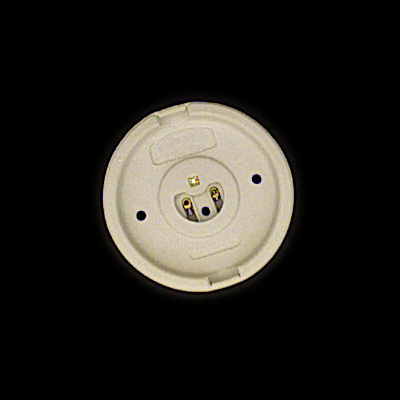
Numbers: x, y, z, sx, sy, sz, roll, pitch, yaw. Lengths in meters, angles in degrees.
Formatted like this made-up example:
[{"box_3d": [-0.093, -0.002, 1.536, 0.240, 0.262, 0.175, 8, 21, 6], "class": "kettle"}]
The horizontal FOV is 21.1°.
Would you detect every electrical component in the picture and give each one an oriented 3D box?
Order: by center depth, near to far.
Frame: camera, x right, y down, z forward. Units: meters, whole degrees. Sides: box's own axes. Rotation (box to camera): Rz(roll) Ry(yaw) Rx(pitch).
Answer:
[{"box_3d": [0.000, 0.000, 0.635, 0.108, 0.108, 0.060, 0, -5, 0], "class": "electrical component"}]
